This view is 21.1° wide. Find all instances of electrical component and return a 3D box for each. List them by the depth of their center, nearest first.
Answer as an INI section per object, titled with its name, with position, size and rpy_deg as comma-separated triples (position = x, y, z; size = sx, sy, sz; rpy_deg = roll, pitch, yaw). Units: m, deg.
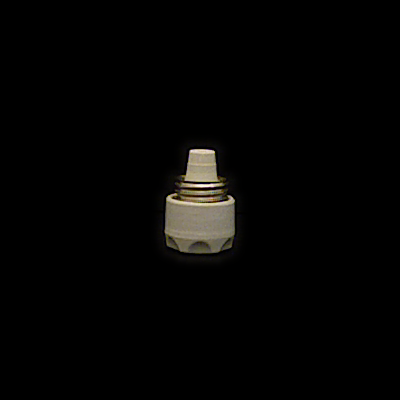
[electrical component]
position = 0.000, 0.000, 0.652
size = 0.043, 0.062, 0.043
rpy_deg = 2, 11, 0
